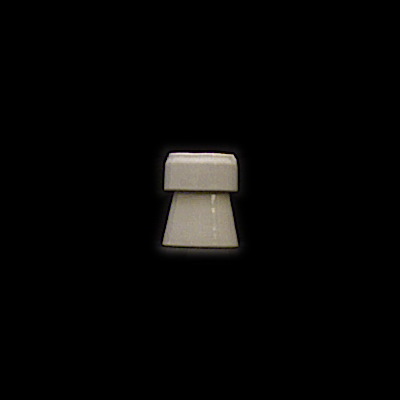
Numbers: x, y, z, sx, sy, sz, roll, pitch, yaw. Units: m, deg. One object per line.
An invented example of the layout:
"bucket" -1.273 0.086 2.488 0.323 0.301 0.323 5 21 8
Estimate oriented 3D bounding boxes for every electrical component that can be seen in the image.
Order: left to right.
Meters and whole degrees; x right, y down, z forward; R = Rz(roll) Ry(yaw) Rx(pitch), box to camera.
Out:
"electrical component" 0.000 0.000 0.648 0.045 0.055 0.045 1 1 0
